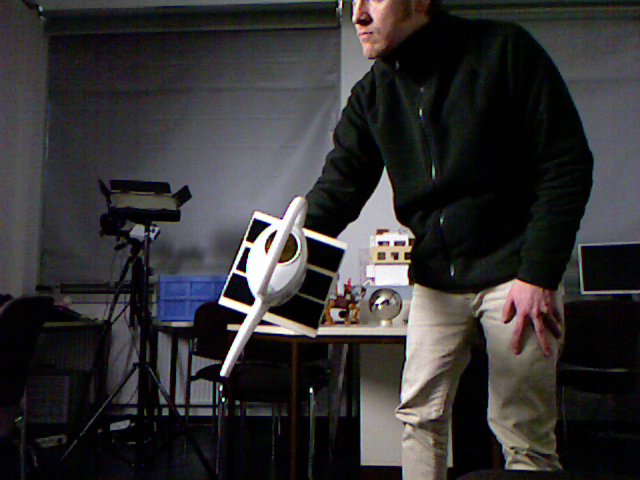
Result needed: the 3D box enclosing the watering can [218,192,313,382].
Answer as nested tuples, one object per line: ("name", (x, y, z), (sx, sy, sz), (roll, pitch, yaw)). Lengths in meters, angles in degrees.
("watering can", (-0.091, 0.080, 0.936), (0.104, 0.351, 0.222), (22, -11, 7))
